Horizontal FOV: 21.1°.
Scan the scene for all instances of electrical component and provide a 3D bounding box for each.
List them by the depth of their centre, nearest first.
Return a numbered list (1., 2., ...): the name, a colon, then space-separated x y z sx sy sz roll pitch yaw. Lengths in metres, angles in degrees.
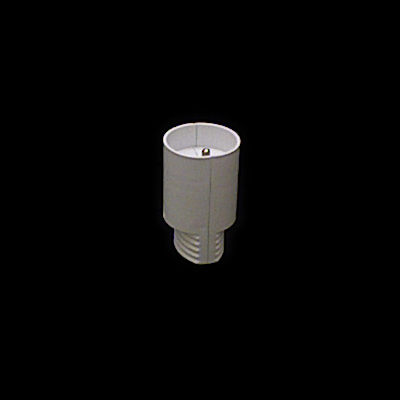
1. electrical component: 0.000 0.000 0.627 0.043 0.082 0.042 0 32 0
